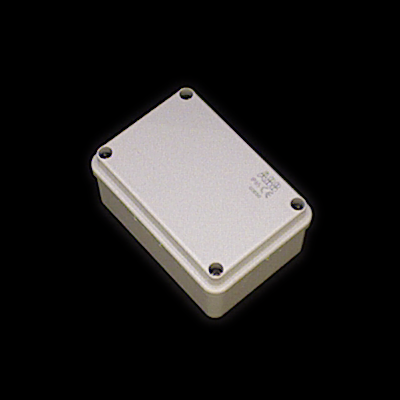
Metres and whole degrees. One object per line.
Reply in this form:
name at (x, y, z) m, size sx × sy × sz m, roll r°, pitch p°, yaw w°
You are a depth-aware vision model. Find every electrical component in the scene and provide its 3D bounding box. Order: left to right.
electrical component at (0.000, 0.000, 0.628) m, size 0.078 × 0.113 × 0.057 m, roll -38°, pitch -21°, yaw -18°
